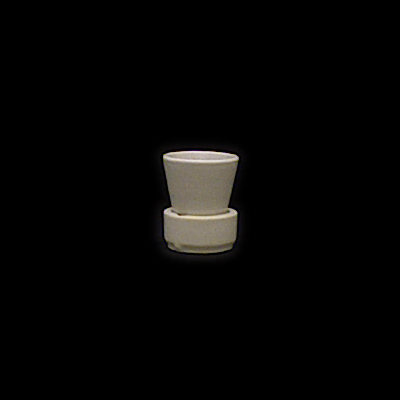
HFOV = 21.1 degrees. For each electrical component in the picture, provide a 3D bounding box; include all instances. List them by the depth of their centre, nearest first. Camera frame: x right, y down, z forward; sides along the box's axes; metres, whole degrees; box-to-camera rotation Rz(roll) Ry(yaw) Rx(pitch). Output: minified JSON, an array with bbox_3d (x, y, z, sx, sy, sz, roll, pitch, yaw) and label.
[{"bbox_3d":[0.000,0.000,0.644,0.045,0.055,0.044,1,10,0],"label":"electrical component"}]
